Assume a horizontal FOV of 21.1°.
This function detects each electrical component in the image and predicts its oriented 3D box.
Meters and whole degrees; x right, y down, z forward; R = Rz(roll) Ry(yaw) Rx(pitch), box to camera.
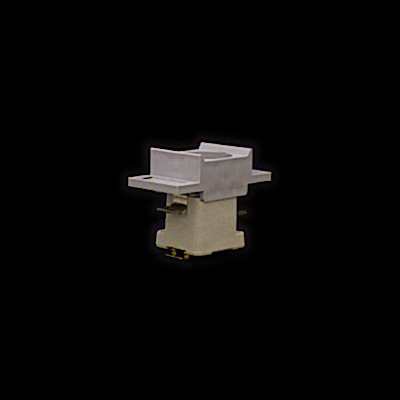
[{"bbox_3d":[0.000,0.000,0.646,0.042,0.064,0.081,11,14,44],"label":"electrical component"}]
